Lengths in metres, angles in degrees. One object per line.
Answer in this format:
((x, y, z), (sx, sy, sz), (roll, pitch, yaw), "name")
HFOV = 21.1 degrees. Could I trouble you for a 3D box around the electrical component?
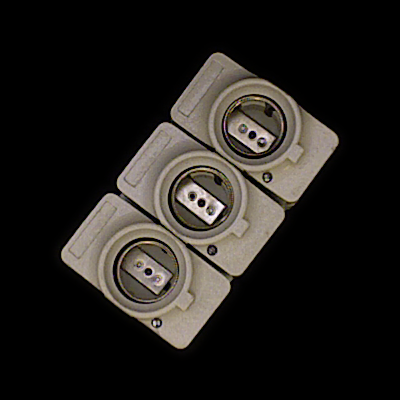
((0.000, 0.000, 0.632), (0.089, 0.150, 0.061), (37, -4, 3), "electrical component")
